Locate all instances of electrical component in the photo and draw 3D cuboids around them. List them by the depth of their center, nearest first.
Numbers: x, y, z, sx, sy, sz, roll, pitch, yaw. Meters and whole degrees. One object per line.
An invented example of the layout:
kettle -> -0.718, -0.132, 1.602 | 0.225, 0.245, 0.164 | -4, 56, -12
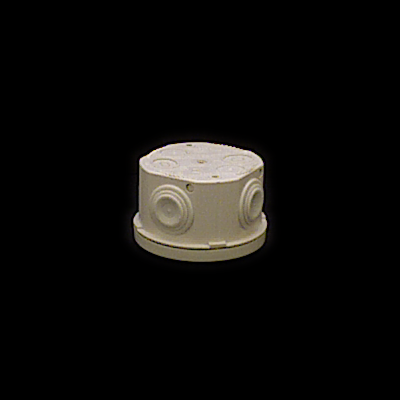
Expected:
electrical component -> 0.000, 0.000, 0.640 | 0.080, 0.051, 0.079 | 1, 21, 0
